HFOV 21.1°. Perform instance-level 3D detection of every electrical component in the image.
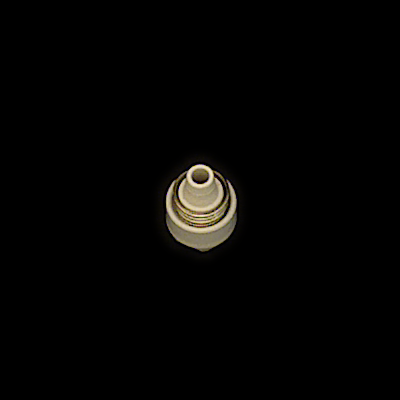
[{"bbox_3d":[0.000,0.000,0.634,0.043,0.043,0.062,0,-28,0],"label":"electrical component"}]
